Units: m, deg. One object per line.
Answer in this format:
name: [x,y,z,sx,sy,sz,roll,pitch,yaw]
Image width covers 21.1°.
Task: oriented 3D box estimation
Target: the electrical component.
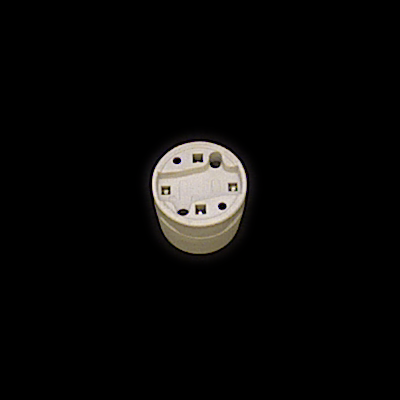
electrical component: [0.000,0.000,0.633,0.055,0.056,0.047,0,-28,-1]
